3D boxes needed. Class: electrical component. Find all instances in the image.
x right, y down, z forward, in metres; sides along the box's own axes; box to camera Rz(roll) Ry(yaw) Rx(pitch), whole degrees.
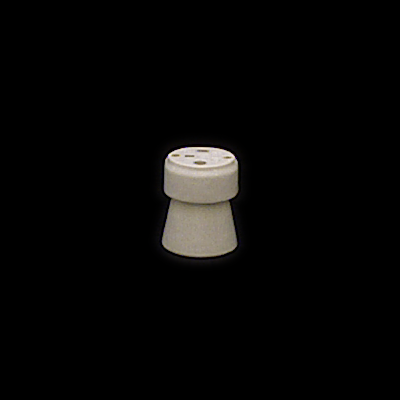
[{"bbox_3d":[0.000,0.000,0.641,0.045,0.056,0.044,1,21,0],"label":"electrical component"}]
